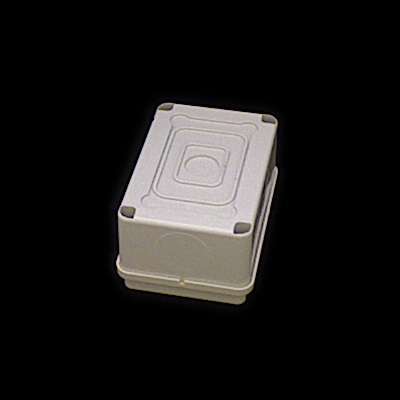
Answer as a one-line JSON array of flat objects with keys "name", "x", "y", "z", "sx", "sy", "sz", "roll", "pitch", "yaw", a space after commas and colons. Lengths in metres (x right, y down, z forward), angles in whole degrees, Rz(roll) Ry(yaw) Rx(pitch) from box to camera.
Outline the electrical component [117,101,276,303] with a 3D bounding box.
[{"name": "electrical component", "x": 0.000, "y": 0.000, "z": 0.631, "sx": 0.078, "sy": 0.057, "sz": 0.112, "roll": 8, "pitch": 43, "yaw": 8}]
